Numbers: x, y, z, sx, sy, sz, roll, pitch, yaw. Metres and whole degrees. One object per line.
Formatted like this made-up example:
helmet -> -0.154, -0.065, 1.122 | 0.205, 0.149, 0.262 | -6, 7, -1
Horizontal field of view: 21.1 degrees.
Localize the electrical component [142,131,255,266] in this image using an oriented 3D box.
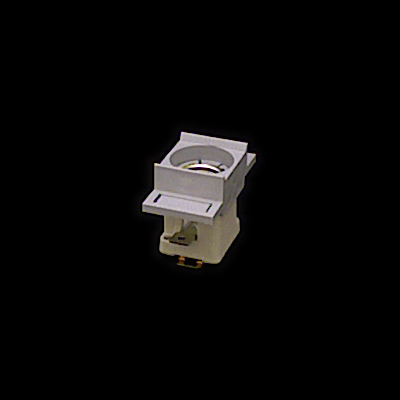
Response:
electrical component -> 0.000, 0.000, 0.630 | 0.042, 0.064, 0.080 | 12, 33, 16
